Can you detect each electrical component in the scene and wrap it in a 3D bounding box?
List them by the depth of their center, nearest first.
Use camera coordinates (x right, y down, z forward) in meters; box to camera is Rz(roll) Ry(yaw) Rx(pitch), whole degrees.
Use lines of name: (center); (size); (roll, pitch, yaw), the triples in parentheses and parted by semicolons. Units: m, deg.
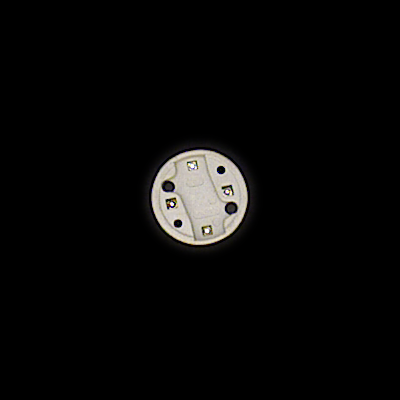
electrical component: (0.000, 0.000, 0.636); (0.055, 0.055, 0.047); (0, -7, 0)
